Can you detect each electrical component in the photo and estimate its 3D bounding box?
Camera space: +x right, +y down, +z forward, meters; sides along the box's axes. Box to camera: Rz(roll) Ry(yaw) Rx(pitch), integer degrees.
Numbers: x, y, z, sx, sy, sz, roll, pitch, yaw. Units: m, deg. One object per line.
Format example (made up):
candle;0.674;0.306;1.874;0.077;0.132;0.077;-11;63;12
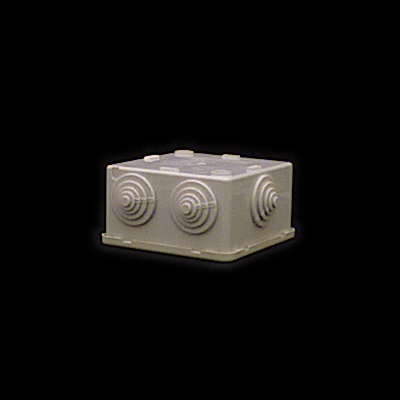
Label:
electrical component;0.000;0.000;0.645;0.099;0.049;0.099;7;12;30
